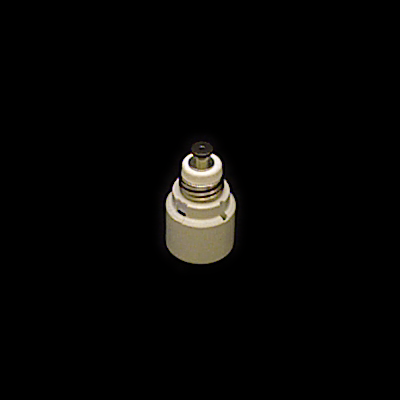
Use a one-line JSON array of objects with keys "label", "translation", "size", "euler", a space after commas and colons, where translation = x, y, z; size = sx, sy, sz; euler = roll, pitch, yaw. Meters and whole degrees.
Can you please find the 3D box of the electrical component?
[{"label": "electrical component", "translation": [0.000, 0.000, 0.625], "size": [0.040, 0.079, 0.039], "euler": [1, 42, -1]}]
